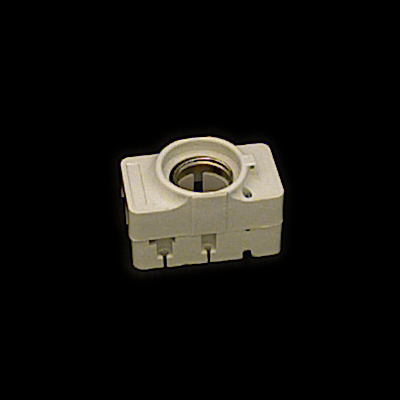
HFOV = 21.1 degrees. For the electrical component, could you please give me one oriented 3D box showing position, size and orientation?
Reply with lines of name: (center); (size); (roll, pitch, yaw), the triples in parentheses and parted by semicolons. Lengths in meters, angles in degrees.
electrical component: (0.000, 0.000, 0.639); (0.090, 0.056, 0.049); (-7, 43, -8)
